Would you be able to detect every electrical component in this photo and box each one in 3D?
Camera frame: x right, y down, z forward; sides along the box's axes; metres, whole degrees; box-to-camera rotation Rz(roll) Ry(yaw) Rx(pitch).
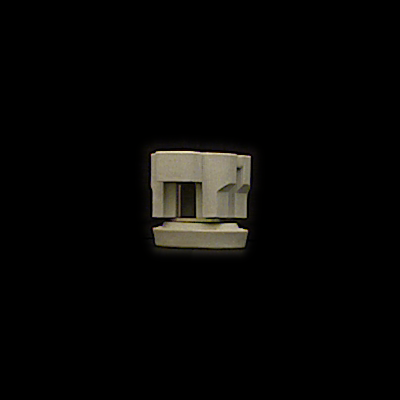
[{"bbox_3d":[0.000,0.000,0.658,0.057,0.057,0.079,1,-1,25],"label":"electrical component"}]
